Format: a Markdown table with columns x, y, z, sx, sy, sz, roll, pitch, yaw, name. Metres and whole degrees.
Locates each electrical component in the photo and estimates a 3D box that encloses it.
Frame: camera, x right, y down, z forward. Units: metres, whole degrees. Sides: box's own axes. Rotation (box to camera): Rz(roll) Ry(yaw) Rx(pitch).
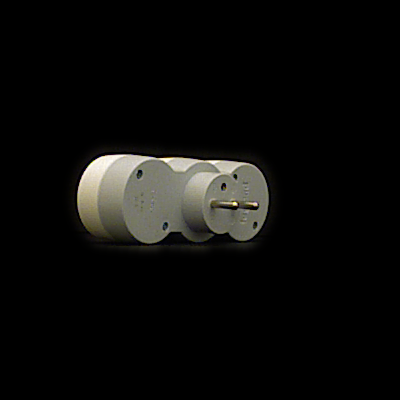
| x | y | z | sx | sy | sz | roll | pitch | yaw | name |
| --- | --- | --- | --- | --- | --- | --- | --- | --- | --- |
| 0.000 | 0.000 | 0.653 | 0.073 | 0.052 | 0.139 | 4 | 2 | 40 | electrical component |
